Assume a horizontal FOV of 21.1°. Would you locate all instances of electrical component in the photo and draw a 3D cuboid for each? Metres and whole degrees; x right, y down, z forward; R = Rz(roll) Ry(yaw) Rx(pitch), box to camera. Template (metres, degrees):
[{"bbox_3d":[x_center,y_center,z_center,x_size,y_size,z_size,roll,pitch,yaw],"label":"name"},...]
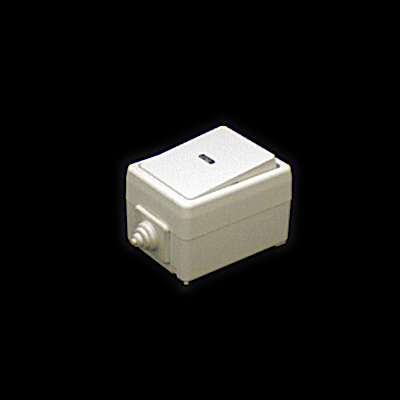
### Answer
[{"bbox_3d":[0.000,0.000,0.633,0.096,0.061,0.061,-21,37,-32],"label":"electrical component"}]
